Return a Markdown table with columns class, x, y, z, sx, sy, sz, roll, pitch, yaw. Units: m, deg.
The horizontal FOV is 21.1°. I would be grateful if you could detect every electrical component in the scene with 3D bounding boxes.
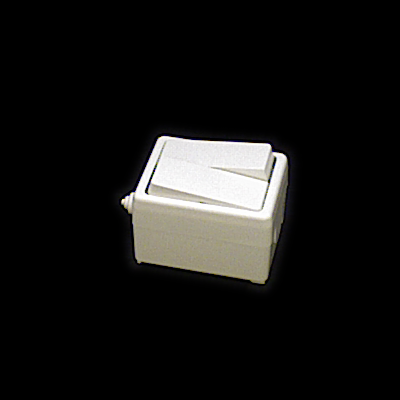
| class | x | y | z | sx | sy | sz | roll | pitch | yaw |
| --- | --- | --- | --- | --- | --- | --- | --- | --- | --- |
| electrical component | 0.000 | 0.000 | 0.631 | 0.096 | 0.061 | 0.061 | 9 | 42 | 9 |
